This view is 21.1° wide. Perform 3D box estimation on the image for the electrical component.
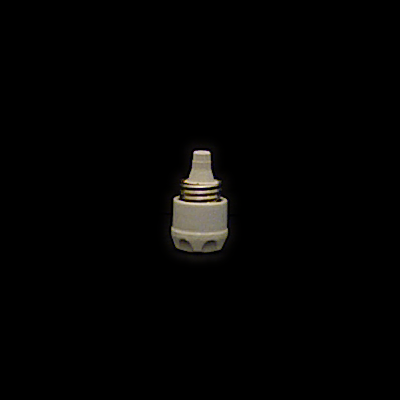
[{"bbox_3d":[0.000,0.000,0.659,0.035,0.062,0.035,2,13,0],"label":"electrical component"}]
